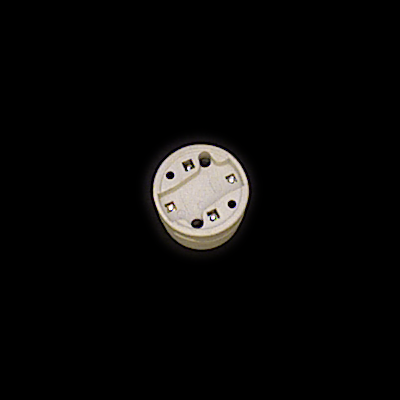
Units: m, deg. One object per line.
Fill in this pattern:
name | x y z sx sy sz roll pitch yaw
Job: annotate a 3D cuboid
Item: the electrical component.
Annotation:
electrical component | 0.000 0.000 0.634 0.055 0.056 0.047 0 -17 0
